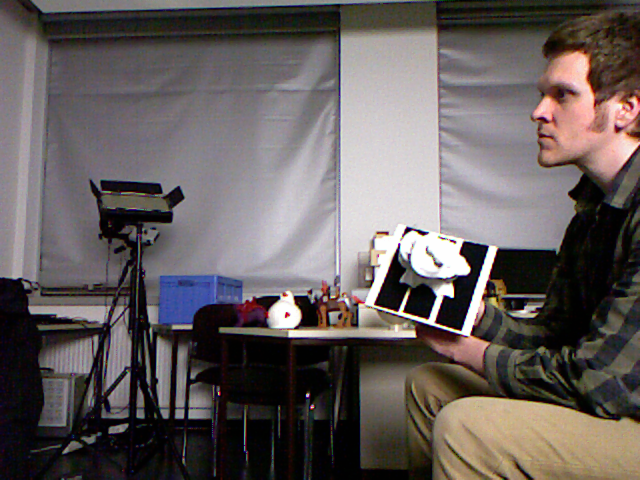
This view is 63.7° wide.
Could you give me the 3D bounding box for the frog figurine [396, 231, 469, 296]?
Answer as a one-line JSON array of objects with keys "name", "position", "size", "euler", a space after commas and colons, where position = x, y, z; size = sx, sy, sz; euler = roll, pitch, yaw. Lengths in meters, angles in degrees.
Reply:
[{"name": "frog figurine", "position": [0.208, 0.027, 0.962], "size": [0.139, 0.125, 0.156], "euler": [33, -23, 26]}]
